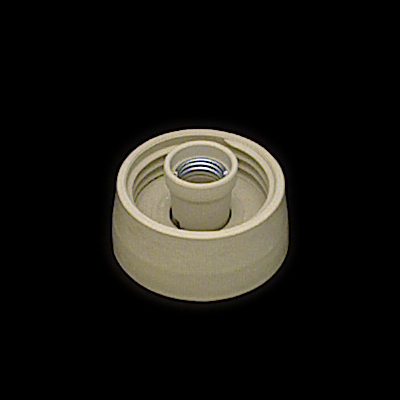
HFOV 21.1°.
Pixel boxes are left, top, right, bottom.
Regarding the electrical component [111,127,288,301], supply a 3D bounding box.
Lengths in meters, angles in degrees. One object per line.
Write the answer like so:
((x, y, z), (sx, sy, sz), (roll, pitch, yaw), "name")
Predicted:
((0.000, 0.000, 0.639), (0.108, 0.061, 0.106), (1, 42, 0), "electrical component")
